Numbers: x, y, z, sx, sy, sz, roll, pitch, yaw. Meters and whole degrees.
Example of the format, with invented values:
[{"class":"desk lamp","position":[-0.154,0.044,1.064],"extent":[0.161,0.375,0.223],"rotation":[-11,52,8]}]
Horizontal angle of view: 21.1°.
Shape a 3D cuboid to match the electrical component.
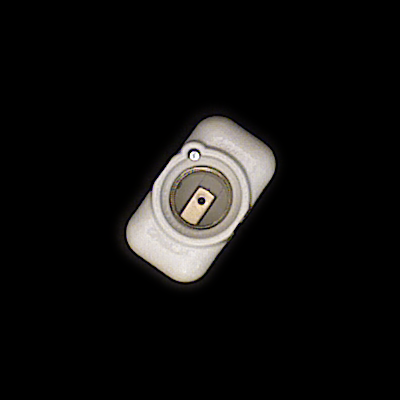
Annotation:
[{"class":"electrical component","position":[0.000,0.000,0.635],"extent":[0.053,0.095,0.059],"rotation":[34,-5,3]}]
